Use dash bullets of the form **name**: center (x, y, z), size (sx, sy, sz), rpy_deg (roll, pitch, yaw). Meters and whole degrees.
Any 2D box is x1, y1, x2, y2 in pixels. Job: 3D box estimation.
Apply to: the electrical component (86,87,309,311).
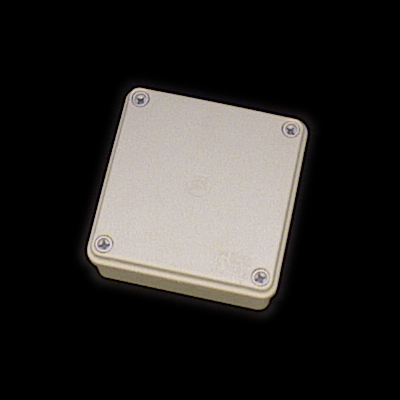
- **electrical component**: center (0.000, 0.000, 0.630), size (0.109, 0.109, 0.056), rpy_deg (12, -17, 3)
